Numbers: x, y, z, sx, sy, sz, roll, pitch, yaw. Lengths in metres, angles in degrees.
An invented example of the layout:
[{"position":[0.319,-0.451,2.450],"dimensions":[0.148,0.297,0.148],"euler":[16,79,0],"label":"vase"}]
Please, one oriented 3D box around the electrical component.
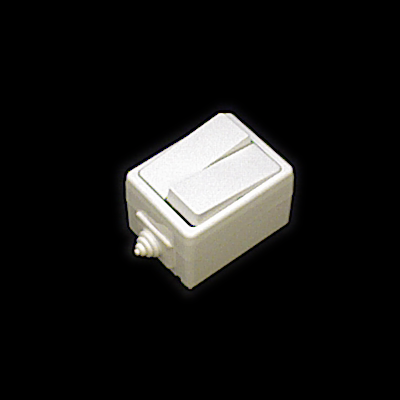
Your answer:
[{"position":[0.000,0.000,0.627],"dimensions":[0.096,0.061,0.061],"euler":[-32,59,-23],"label":"electrical component"}]
